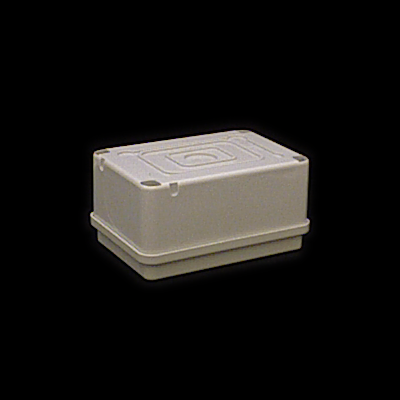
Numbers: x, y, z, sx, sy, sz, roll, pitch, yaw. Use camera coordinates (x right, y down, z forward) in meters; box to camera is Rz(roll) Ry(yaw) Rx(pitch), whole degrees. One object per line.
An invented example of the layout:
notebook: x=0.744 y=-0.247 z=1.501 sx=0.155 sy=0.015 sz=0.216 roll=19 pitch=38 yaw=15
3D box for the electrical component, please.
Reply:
electrical component: x=0.000 y=0.000 z=0.640 sx=0.113 sy=0.058 sz=0.077 roll=-10 pitch=23 yaw=-28
